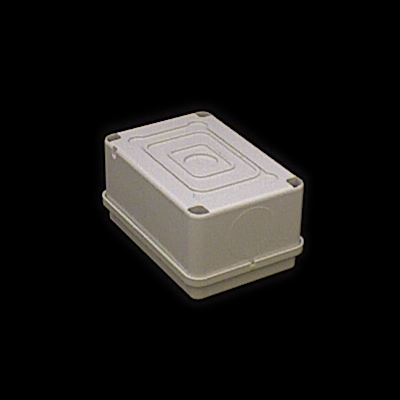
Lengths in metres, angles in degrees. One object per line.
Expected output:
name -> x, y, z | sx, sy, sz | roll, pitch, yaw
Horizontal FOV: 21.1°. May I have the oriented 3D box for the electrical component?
electrical component -> 0.000, 0.000, 0.635 | 0.078, 0.058, 0.112 | -17, 36, -27
